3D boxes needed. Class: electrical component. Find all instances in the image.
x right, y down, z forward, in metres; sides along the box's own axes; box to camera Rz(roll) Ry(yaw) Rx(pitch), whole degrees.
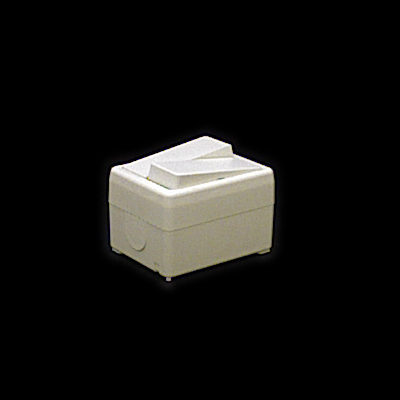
[{"bbox_3d":[0.000,0.000,0.640,0.096,0.061,0.061,-14,26,-35],"label":"electrical component"}]
